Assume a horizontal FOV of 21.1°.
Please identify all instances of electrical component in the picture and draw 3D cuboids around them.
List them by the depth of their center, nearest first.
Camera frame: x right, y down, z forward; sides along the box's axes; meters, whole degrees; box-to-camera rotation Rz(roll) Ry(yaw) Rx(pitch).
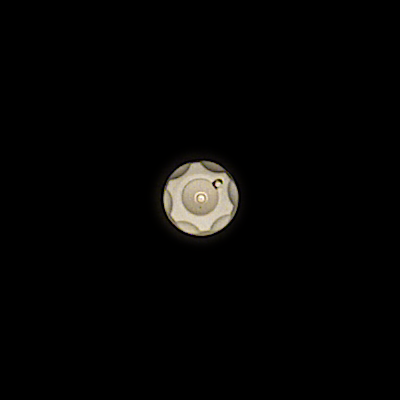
[{"bbox_3d":[0.000,0.000,0.635,0.043,0.043,0.062,0,-4,2],"label":"electrical component"}]
